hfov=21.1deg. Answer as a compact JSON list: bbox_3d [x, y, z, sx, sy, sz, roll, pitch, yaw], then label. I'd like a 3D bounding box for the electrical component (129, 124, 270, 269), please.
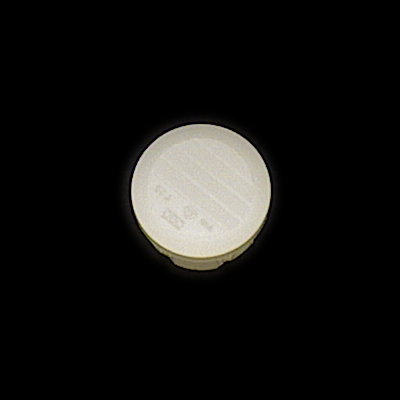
[{"bbox_3d":[0.000,0.000,0.630,0.080,0.080,0.050,0,-17,0],"label":"electrical component"}]
